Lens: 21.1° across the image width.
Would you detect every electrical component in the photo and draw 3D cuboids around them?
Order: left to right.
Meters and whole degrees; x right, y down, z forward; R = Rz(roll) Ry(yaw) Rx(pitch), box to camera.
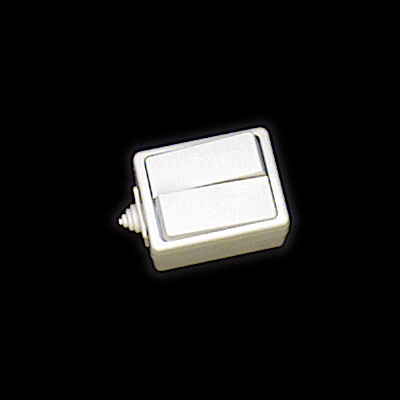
[{"bbox_3d":[0.000,0.000,0.626,0.096,0.062,0.060,-11,-17,-4],"label":"electrical component"}]
